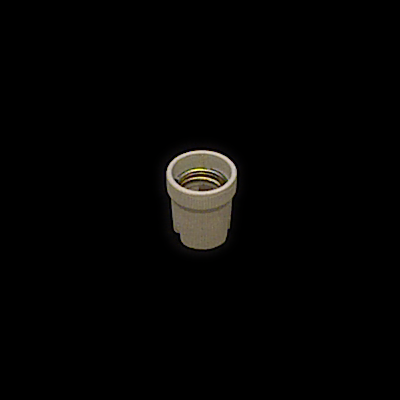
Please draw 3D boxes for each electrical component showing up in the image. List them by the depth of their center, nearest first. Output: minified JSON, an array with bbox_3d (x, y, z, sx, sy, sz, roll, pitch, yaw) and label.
[{"bbox_3d":[0.000,0.000,0.633,0.040,0.047,0.039,1,42,0],"label":"electrical component"}]
